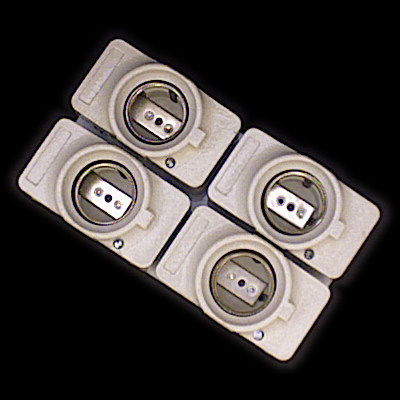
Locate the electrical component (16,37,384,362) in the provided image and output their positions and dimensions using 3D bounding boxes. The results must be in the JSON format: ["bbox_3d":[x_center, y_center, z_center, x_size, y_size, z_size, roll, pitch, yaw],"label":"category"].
[{"bbox_3d":[0.000,0.000,0.626,0.186,0.106,0.060,33,-6,3],"label":"electrical component"}]
